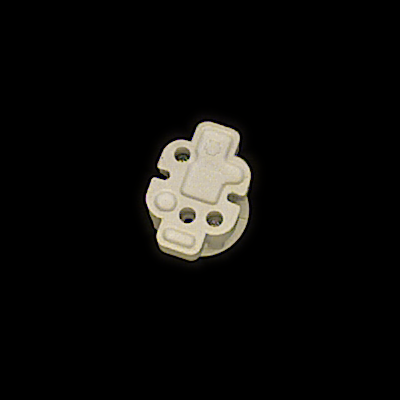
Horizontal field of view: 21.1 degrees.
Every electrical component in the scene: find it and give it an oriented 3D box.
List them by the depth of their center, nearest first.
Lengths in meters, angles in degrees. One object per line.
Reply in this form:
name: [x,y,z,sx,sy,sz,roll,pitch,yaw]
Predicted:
electrical component: [0.000,0.000,0.636,0.058,0.079,0.056,17,-17,6]
